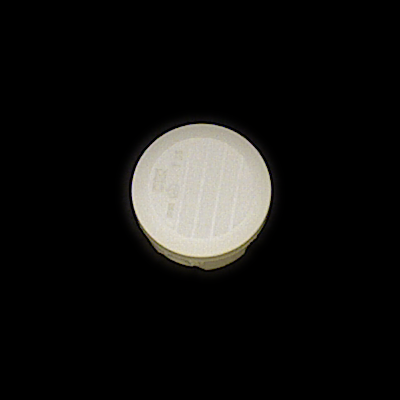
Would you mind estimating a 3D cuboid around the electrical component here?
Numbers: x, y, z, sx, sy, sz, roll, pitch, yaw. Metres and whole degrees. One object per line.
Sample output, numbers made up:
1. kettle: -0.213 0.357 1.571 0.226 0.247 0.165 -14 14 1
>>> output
1. electrical component: 0.000 0.000 0.631 0.080 0.080 0.050 0 -17 0
